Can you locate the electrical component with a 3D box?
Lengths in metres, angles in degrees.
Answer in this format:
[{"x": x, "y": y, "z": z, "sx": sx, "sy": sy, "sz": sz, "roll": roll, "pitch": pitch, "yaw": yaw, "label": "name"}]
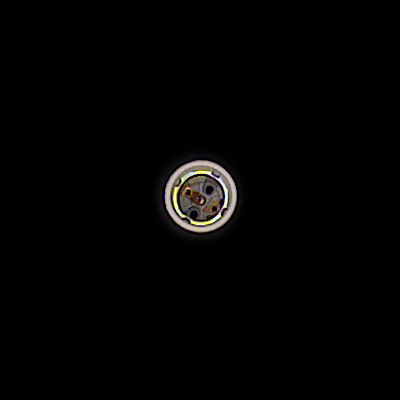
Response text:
[{"x": 0.000, "y": 0.000, "z": 0.627, "sx": 0.040, "sy": 0.040, "sz": 0.046, "roll": 0, "pitch": -6, "yaw": 0, "label": "electrical component"}]
